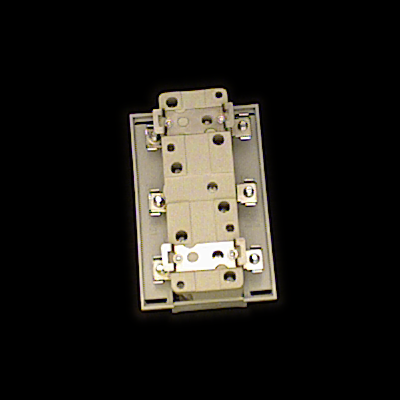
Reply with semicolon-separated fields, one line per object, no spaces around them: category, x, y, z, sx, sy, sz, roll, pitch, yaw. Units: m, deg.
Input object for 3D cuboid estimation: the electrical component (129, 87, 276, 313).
electrical component;0.000;0.000;0.633;0.079;0.122;0.062;-5;-16;0
